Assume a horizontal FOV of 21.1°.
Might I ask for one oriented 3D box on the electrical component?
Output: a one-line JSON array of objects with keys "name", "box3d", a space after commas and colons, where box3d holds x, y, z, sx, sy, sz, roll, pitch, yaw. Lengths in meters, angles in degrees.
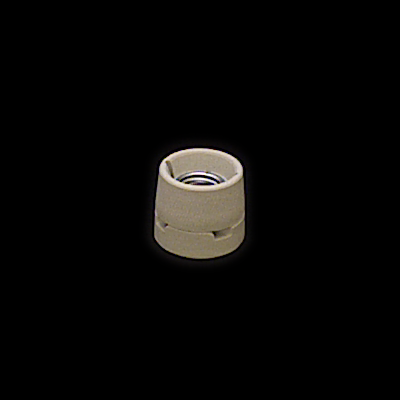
[{"name": "electrical component", "box3d": [0.000, 0.000, 0.637, 0.055, 0.047, 0.055, 1, 32, -1]}]
